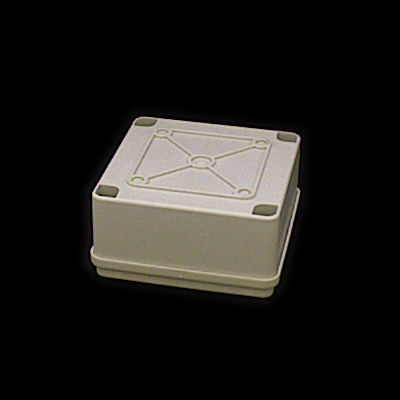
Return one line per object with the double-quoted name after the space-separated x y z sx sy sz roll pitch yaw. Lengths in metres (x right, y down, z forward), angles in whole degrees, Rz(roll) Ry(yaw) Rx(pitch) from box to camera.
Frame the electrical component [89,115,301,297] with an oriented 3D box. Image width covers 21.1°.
0.000 0.000 0.637 0.108 0.057 0.107 7 32 9 "electrical component"
